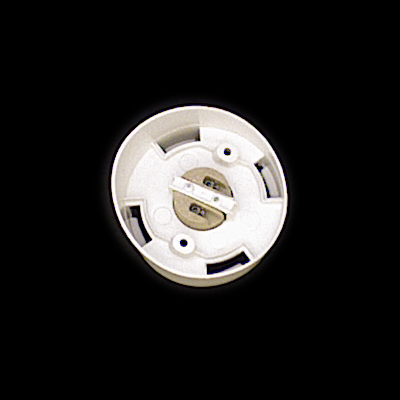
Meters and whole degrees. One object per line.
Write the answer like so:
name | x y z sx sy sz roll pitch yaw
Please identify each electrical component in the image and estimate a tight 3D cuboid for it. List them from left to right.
electrical component | 0.000 0.000 0.623 0.099 0.099 0.064 0 -17 1
